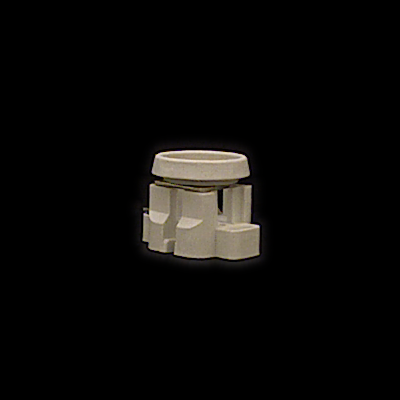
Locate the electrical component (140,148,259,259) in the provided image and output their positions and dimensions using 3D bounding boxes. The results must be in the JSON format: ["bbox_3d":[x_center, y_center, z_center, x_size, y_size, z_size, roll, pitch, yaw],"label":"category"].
[{"bbox_3d":[0.000,0.000,0.644,0.078,0.057,0.058,11,14,41],"label":"electrical component"}]
